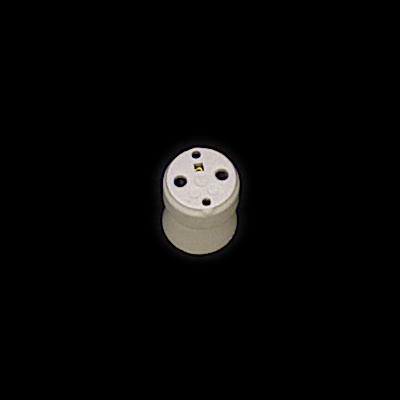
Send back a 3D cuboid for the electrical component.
[{"bbox_3d":[0.000,0.000,0.629,0.045,0.045,0.055,0,-27,-1],"label":"electrical component"}]
